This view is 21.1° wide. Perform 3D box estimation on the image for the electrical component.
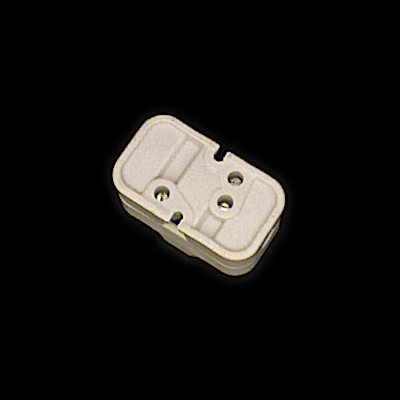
[{"bbox_3d":[0.000,0.000,0.636,0.095,0.054,0.059,32,-13,9],"label":"electrical component"}]
